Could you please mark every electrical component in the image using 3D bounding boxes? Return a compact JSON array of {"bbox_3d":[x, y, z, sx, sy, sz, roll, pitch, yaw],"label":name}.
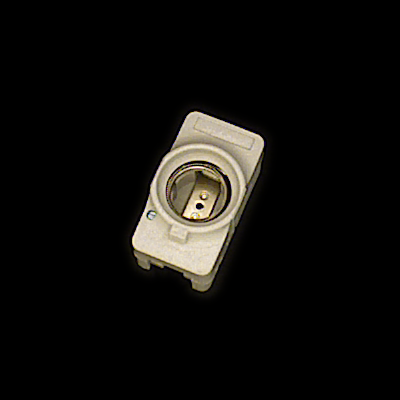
[{"bbox_3d":[0.000,0.000,0.636,0.050,0.090,0.055,21,-15,6],"label":"electrical component"}]
